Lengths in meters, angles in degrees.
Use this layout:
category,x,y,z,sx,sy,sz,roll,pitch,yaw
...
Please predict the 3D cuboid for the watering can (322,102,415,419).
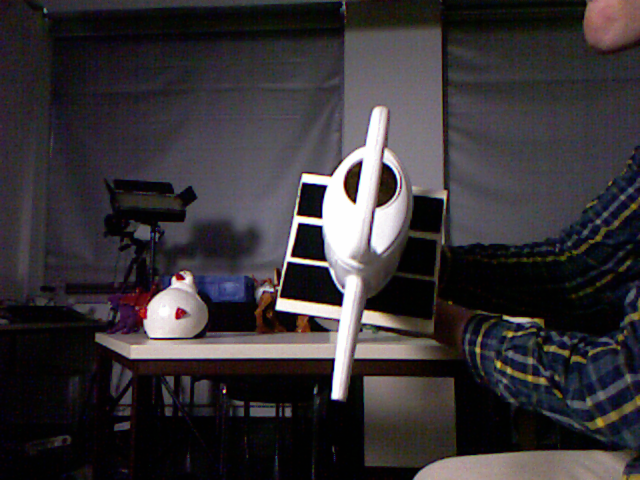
category,x,y,z,sx,sy,sz,roll,pitch,yaw
watering can,0.047,0.018,0.588,0.105,0.357,0.223,9,-20,7
